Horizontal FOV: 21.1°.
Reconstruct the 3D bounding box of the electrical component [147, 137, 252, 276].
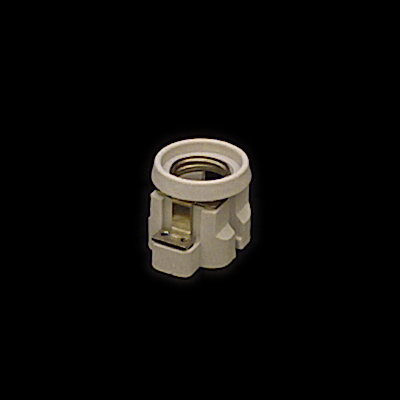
[{"bbox_3d":[0.000,0.000,0.633,0.057,0.057,0.078,16,34,23],"label":"electrical component"}]
